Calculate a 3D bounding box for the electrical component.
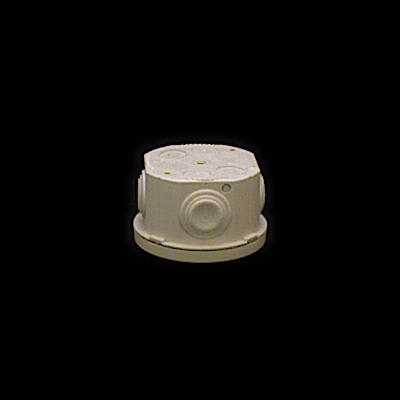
[{"bbox_3d":[0.000,0.000,0.639,0.080,0.051,0.079,1,21,0],"label":"electrical component"}]
